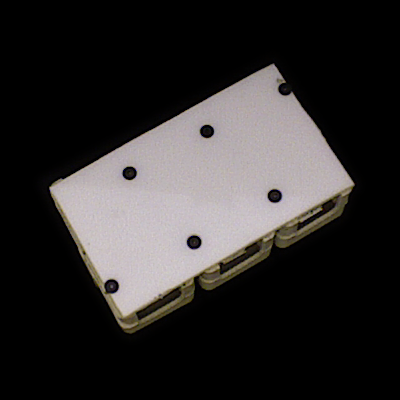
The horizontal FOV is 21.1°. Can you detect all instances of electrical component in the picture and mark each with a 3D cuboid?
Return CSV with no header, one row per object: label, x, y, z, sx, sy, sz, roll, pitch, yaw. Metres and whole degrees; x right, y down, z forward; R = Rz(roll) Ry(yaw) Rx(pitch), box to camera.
electrical component,0.000,0.000,0.629,0.150,0.089,0.062,-29,-15,-8
